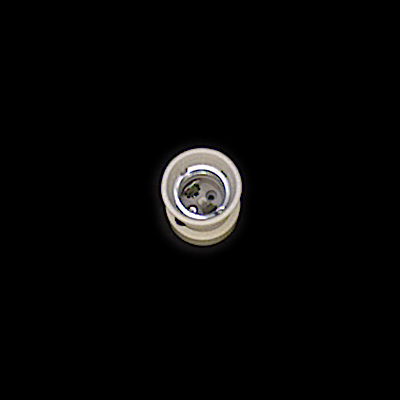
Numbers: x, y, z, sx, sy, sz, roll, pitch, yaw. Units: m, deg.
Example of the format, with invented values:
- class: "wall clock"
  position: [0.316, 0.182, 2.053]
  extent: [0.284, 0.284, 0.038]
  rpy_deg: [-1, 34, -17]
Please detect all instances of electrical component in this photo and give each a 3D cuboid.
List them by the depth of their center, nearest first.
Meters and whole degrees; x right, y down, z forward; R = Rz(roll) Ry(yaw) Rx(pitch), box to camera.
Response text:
- class: "electrical component"
  position: [0.000, 0.000, 0.628]
  extent: [0.045, 0.045, 0.055]
  rpy_deg: [0, -17, 1]
